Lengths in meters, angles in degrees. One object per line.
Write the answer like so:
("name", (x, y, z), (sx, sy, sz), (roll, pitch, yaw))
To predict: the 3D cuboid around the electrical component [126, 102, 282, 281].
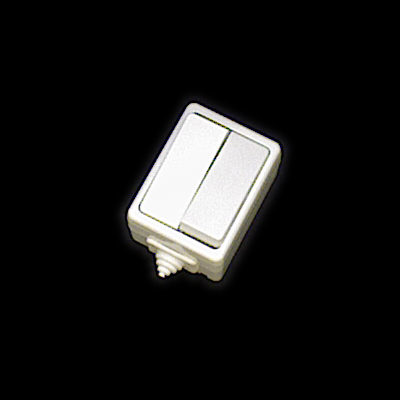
("electrical component", (0.000, 0.000, 0.625), (0.062, 0.097, 0.060), (27, -15, 8))
